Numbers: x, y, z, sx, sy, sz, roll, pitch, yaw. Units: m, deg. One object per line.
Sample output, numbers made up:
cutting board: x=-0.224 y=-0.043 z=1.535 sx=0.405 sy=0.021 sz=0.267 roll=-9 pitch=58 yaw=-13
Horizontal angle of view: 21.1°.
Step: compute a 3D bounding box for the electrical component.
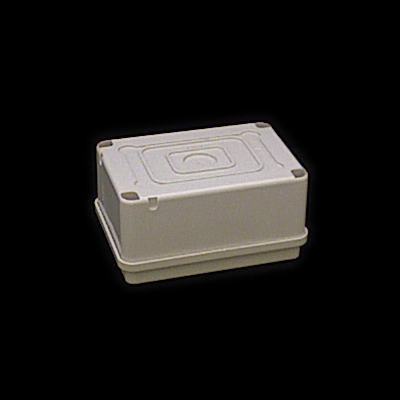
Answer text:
electrical component: x=0.000 y=0.000 z=0.635 sx=0.113 sy=0.058 sz=0.077 roll=-8 pitch=32 yaw=-15
